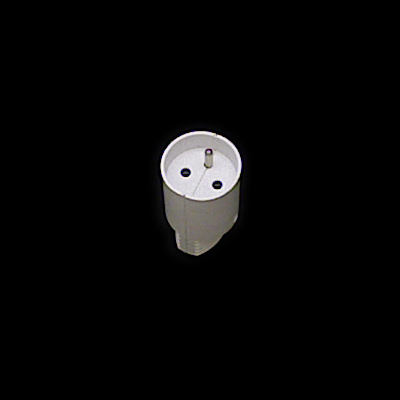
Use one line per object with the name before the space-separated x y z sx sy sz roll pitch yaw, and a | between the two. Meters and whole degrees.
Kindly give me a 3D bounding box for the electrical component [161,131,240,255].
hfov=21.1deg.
electrical component | 0.000 0.000 0.617 0.043 0.043 0.081 0 -28 -1
